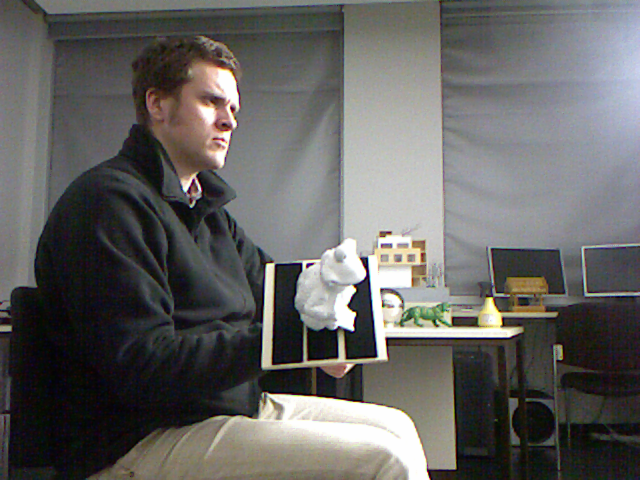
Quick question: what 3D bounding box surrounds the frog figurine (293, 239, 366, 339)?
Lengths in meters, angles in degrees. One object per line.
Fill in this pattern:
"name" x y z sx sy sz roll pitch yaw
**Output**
"frog figurine" 0.012 0.069 0.812 0.123 0.141 0.156 12 -32 16
